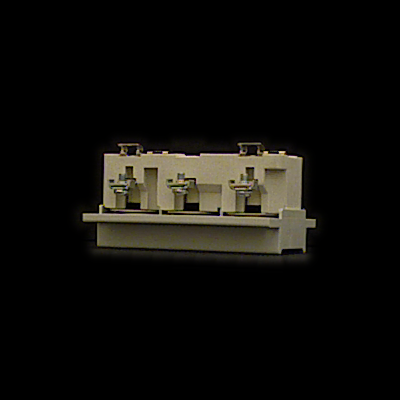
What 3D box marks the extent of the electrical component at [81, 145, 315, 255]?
[{"bbox_3d":[0.000,0.000,0.660,0.120,0.063,0.079,2,0,24],"label":"electrical component"}]
